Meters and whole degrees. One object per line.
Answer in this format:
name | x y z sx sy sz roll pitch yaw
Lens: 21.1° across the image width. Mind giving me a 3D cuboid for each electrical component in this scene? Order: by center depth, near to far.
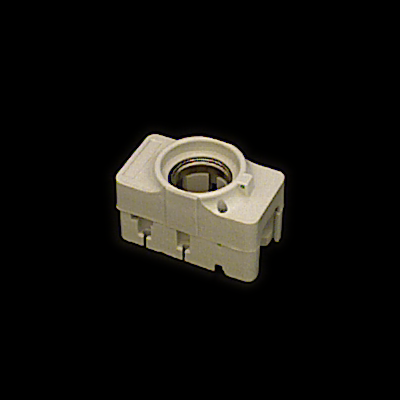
electrical component | 0.000 0.000 0.639 0.089 0.056 0.050 17 45 18
